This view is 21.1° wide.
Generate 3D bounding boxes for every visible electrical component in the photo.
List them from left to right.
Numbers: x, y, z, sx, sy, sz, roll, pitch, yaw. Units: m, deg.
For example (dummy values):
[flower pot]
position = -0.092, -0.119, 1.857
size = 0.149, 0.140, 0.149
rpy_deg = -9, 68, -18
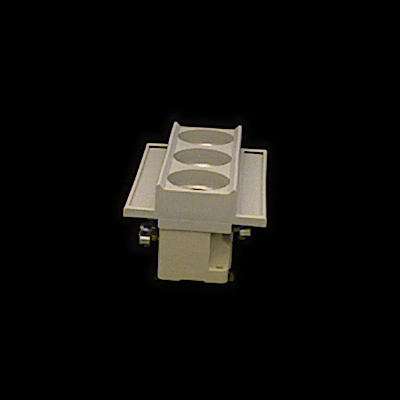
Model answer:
[electrical component]
position = 0.000, 0.000, 0.652
size = 0.079, 0.064, 0.119
rpy_deg = 3, 21, 2
